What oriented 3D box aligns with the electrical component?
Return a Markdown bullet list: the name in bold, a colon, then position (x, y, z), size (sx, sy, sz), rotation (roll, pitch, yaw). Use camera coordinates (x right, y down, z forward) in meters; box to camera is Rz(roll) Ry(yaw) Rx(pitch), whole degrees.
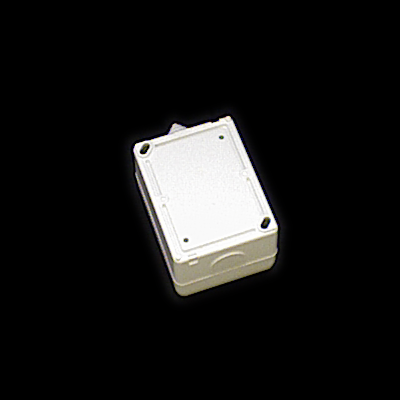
- **electrical component**: position (0.000, 0.000, 0.629), size (0.062, 0.096, 0.061), rotation (-17, -26, -8)
